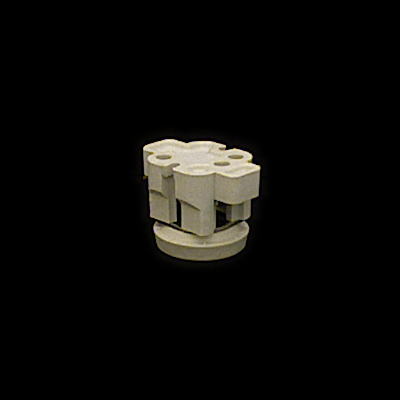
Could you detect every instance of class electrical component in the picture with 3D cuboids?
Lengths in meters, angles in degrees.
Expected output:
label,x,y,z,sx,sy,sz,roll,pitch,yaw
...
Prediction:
label,x,y,z,sx,sy,sz,roll,pitch,yaw
electrical component,0.000,0.000,0.646,0.077,0.057,0.058,18,28,39
